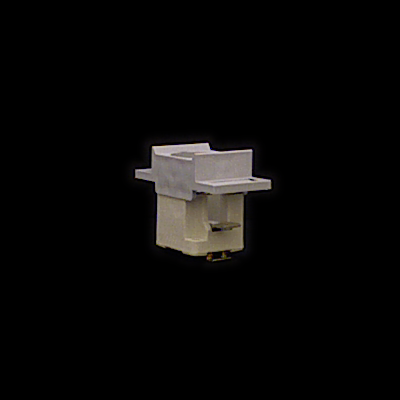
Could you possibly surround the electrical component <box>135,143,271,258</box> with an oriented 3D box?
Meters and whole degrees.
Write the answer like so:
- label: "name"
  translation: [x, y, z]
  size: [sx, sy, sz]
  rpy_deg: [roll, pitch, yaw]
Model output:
- label: "electrical component"
  translation: [0.000, 0.000, 0.642]
  size: [0.042, 0.064, 0.080]
  rpy_deg: [-6, 12, -35]
